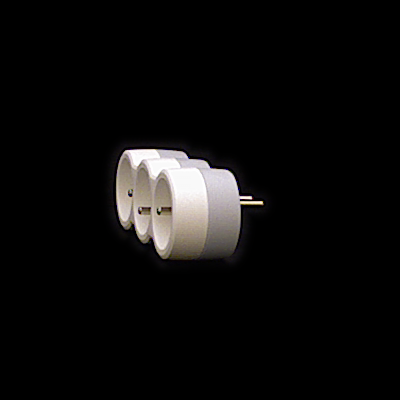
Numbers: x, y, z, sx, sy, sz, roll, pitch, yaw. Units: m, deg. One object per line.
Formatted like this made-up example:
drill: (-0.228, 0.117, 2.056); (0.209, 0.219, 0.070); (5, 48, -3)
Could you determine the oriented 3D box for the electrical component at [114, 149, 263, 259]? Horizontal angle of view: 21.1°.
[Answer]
electrical component: (0.000, 0.000, 0.648); (0.074, 0.052, 0.137); (0, 9, -18)
